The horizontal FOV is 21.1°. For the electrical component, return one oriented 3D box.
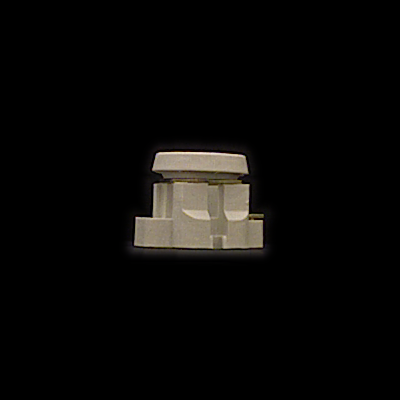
[{"bbox_3d":[0.000,0.000,0.651,0.079,0.057,0.057,1,1,-25],"label":"electrical component"}]
